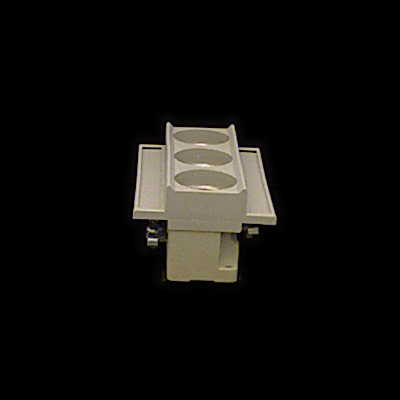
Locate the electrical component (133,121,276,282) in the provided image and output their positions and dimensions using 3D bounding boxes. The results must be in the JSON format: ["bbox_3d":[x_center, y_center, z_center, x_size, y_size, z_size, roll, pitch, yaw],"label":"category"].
[{"bbox_3d":[0.000,0.000,0.652,0.079,0.064,0.119,2,21,-2],"label":"electrical component"}]
